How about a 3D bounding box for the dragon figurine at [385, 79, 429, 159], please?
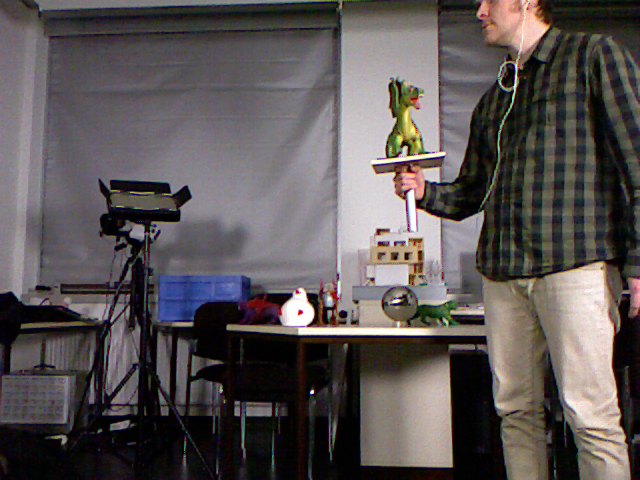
[{"bbox_3d":[0.238,-0.363,1.559,0.122,0.243,0.410,-7,0,-7],"label":"dragon figurine"}]
